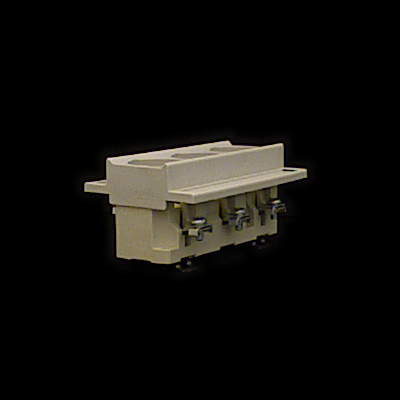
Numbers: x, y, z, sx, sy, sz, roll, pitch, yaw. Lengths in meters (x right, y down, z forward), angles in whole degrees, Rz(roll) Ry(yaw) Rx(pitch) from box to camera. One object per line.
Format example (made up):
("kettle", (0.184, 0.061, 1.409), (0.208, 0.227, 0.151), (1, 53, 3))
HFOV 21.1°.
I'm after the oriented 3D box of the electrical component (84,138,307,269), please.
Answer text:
("electrical component", (0.000, 0.000, 0.656), (0.078, 0.063, 0.121), (7, 12, 36))
